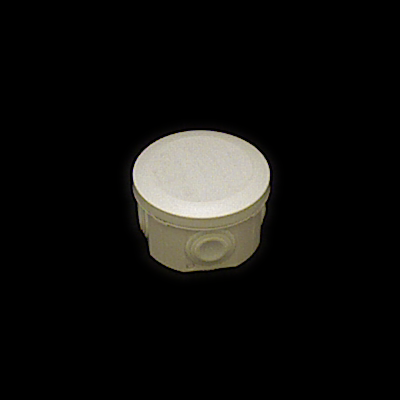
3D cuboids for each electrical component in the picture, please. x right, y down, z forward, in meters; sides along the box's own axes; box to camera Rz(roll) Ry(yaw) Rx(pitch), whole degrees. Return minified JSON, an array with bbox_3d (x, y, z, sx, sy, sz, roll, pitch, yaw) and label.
[{"bbox_3d":[0.000,0.000,0.635,0.080,0.051,0.079,1,41,0],"label":"electrical component"}]
